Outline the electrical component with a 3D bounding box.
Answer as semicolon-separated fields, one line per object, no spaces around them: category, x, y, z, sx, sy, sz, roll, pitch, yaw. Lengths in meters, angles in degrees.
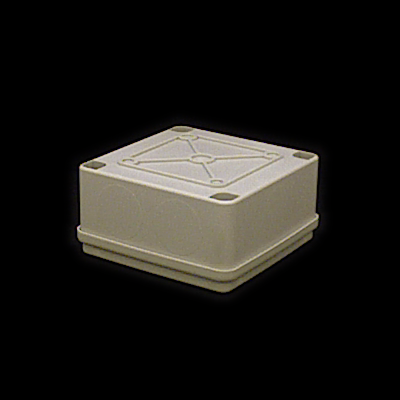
electrical component;0.000;0.000;0.637;0.108;0.057;0.108;14;25;31
